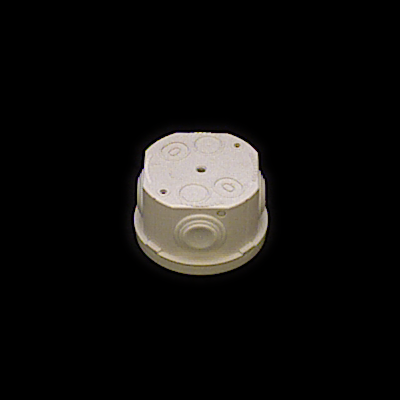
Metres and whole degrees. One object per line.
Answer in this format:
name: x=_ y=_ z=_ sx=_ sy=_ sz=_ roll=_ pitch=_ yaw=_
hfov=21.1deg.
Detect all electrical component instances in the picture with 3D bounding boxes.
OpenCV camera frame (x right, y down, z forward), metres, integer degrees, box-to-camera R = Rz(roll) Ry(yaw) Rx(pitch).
electrical component: x=0.000 y=0.000 z=0.633 sx=0.080 sy=0.051 sz=0.080 roll=0 pitch=43 yaw=0
